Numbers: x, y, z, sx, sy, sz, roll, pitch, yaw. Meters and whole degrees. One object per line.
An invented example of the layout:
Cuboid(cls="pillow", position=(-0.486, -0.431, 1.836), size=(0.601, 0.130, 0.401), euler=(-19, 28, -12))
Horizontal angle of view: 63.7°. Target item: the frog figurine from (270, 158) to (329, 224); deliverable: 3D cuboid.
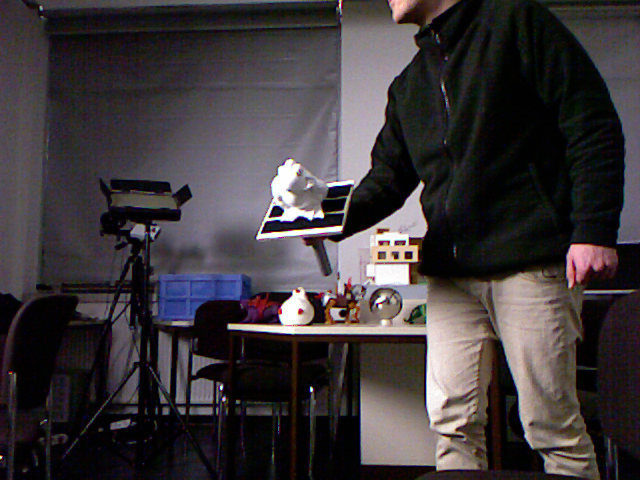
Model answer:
Cuboid(cls="frog figurine", position=(-0.052, -0.127, 1.168), size=(0.138, 0.156, 0.125), euler=(9, 43, 29))
